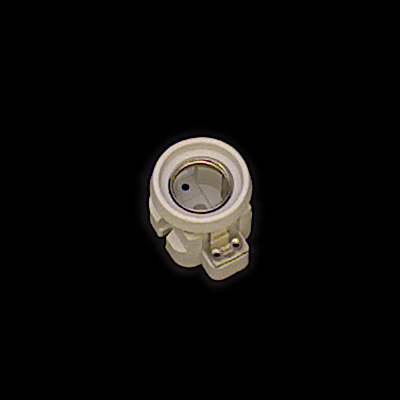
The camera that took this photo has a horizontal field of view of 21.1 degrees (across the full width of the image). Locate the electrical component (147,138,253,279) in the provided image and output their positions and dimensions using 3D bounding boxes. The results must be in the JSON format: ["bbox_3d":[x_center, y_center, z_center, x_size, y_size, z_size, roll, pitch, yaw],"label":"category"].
[{"bbox_3d":[0.000,0.000,0.628,0.058,0.078,0.057,-27,-24,-13],"label":"electrical component"}]
